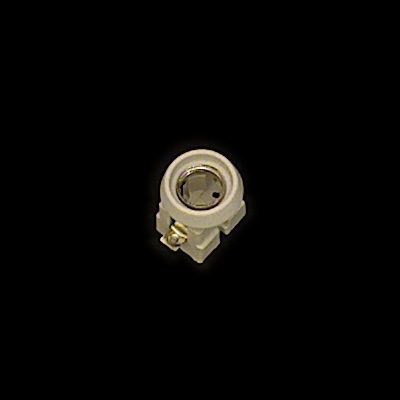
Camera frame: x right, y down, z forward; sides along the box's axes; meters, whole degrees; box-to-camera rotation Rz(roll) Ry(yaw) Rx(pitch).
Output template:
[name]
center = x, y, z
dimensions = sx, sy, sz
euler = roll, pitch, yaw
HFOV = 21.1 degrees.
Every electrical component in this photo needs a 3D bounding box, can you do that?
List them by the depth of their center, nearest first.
[electrical component]
center = 0.000, 0.000, 0.636
dimensions = 0.048, 0.067, 0.055
euler = 34, -22, 18
